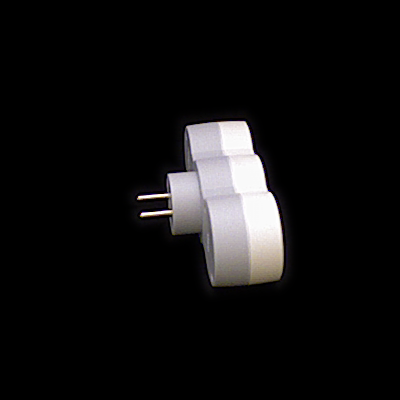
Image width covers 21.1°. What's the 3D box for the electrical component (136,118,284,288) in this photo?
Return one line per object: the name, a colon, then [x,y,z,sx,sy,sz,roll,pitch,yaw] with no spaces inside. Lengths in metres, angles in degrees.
electrical component: [0.000,0.000,0.634,0.074,0.053,0.137,-5,33,-6]
